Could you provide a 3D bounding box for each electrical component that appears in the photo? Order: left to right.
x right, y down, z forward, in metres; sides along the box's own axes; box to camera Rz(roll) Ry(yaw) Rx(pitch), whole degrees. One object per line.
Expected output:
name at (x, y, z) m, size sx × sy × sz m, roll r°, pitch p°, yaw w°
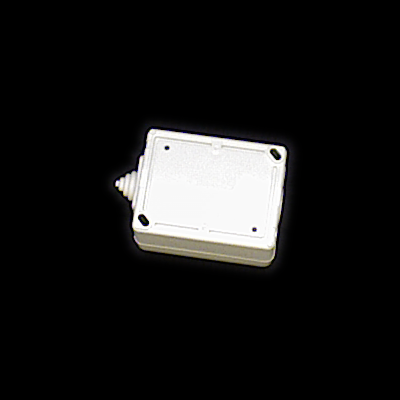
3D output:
electrical component at (0.000, -0.001, 0.625) m, size 0.096 × 0.062 × 0.060 m, roll 8°, pitch -16°, yaw 2°
